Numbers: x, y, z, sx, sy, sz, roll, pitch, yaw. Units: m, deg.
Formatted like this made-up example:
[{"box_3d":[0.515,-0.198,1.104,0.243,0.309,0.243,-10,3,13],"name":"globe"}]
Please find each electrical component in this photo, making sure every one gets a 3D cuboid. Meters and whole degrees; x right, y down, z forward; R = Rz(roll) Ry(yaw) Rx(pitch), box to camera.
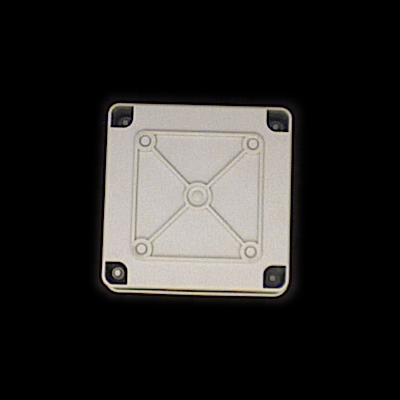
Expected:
[{"box_3d":[0.000,0.000,0.628,0.109,0.109,0.056,2,-7,1],"name":"electrical component"}]
